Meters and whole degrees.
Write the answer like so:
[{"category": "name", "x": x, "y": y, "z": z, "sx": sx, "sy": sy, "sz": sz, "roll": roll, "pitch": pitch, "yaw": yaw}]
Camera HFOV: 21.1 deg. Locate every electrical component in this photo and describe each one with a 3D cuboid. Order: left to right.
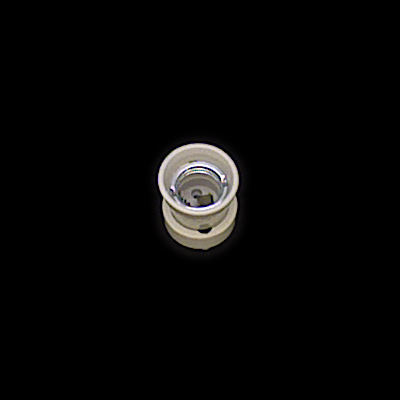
[{"category": "electrical component", "x": 0.000, "y": 0.000, "z": 0.627, "sx": 0.045, "sy": 0.045, "sz": 0.055, "roll": 0, "pitch": -27, "yaw": 0}]
